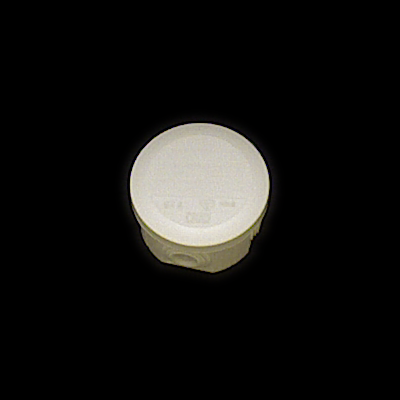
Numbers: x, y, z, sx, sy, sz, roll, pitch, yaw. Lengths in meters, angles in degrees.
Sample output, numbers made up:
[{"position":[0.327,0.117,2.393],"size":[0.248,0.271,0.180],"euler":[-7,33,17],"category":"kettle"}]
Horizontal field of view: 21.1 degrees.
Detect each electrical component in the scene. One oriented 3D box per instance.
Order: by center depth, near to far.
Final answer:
[{"position":[0.000,0.000,0.630],"size":[0.080,0.080,0.050],"euler":[0,-27,0],"category":"electrical component"}]
